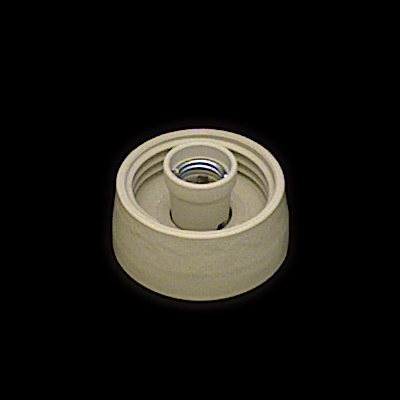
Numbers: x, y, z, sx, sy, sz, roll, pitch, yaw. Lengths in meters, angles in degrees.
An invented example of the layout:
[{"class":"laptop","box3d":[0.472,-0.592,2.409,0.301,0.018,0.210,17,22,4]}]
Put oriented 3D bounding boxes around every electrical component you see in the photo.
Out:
[{"class":"electrical component","box3d":[0.000,0.000,0.637,0.108,0.061,0.107,1,43,0]}]
